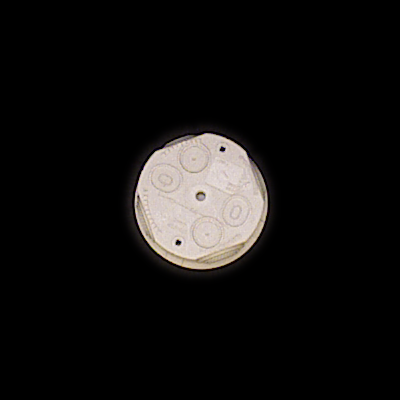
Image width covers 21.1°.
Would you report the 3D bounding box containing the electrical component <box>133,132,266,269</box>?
[{"bbox_3d":[0.000,0.000,0.633,0.080,0.080,0.050,0,-7,0],"label":"electrical component"}]
